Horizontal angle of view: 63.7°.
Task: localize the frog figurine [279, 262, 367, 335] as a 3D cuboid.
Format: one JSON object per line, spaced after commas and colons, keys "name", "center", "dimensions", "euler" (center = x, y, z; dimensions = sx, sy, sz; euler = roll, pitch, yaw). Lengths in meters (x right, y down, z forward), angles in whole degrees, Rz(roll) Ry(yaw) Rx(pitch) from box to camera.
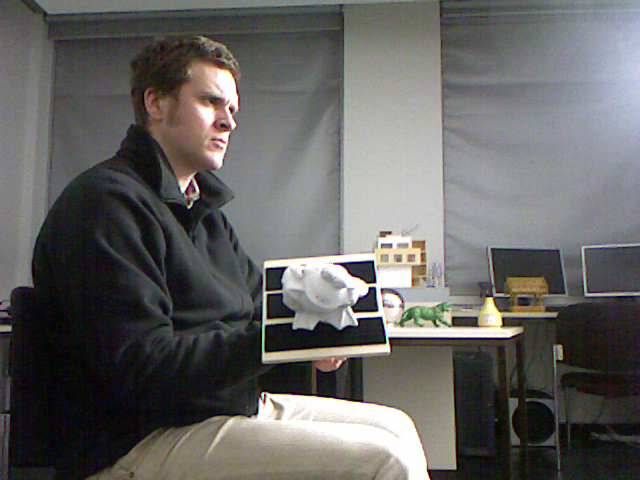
{"name": "frog figurine", "center": [0.002, 0.070, 0.800], "dimensions": [0.138, 0.126, 0.156], "euler": [11, -39, 11]}
